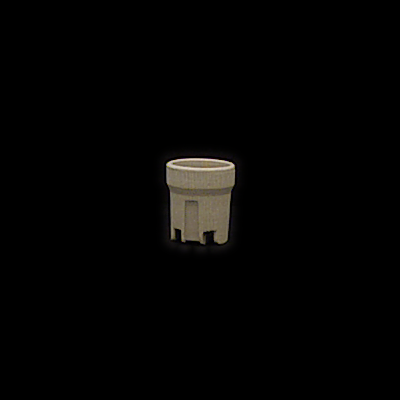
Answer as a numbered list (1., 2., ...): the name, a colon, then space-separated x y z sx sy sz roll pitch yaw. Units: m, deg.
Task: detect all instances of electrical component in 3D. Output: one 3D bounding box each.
1. electrical component: 0.000 0.000 0.642 0.040 0.046 0.040 1 11 0
